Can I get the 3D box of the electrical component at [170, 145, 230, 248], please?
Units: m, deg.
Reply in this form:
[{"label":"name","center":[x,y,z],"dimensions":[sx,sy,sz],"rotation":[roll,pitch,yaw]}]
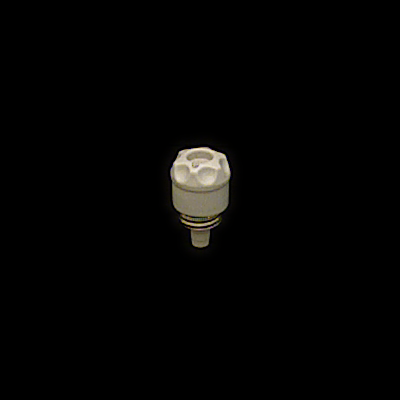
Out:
[{"label":"electrical component","center":[0.000,0.000,0.639],"dimensions":[0.035,0.062,0.035],"rotation":[0,32,0]}]
